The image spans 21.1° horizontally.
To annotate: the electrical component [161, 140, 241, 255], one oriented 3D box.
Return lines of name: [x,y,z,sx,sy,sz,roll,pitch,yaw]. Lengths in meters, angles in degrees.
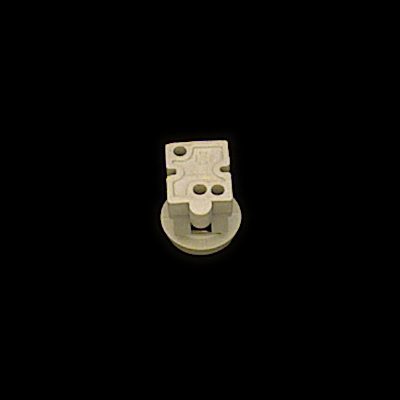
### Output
electrical component: [0.000,0.000,0.638,0.048,0.066,0.055,-3,-38,-1]
